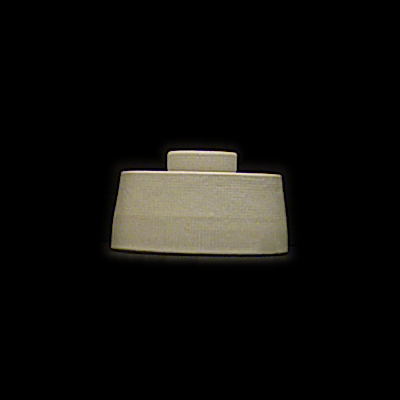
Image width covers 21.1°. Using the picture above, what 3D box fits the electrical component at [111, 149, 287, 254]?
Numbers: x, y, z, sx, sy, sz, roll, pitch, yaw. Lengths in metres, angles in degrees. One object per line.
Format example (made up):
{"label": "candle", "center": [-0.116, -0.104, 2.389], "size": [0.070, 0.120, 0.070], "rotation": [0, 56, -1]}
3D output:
{"label": "electrical component", "center": [0.000, 0.000, 0.656], "size": [0.108, 0.060, 0.108], "rotation": [1, 0, 0]}
